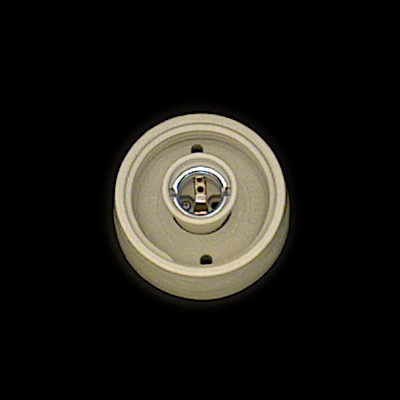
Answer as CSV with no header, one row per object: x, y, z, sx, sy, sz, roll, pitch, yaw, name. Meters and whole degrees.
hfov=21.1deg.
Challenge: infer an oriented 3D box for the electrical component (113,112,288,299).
0.000,0.000,0.633,0.108,0.108,0.060,0,-16,0,electrical component
